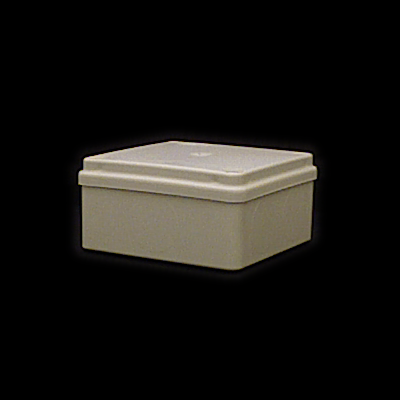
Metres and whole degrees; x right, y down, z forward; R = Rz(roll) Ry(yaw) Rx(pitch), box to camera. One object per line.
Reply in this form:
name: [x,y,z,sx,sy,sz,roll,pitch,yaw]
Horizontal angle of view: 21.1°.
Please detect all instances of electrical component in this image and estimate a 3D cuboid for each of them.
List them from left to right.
electrical component: [0.000,0.000,0.643,0.108,0.056,0.108,7,12,29]
